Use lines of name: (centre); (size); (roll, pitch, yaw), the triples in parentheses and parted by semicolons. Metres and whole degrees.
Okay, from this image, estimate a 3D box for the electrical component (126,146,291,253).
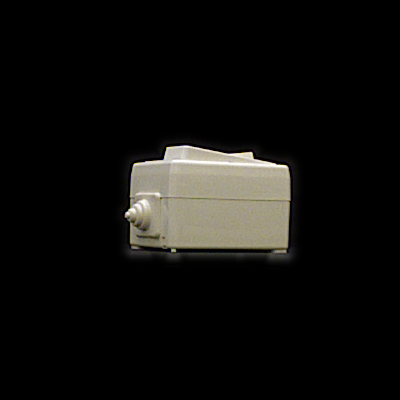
electrical component: (0.000, 0.000, 0.648); (0.096, 0.061, 0.061); (2, 0, -28)
